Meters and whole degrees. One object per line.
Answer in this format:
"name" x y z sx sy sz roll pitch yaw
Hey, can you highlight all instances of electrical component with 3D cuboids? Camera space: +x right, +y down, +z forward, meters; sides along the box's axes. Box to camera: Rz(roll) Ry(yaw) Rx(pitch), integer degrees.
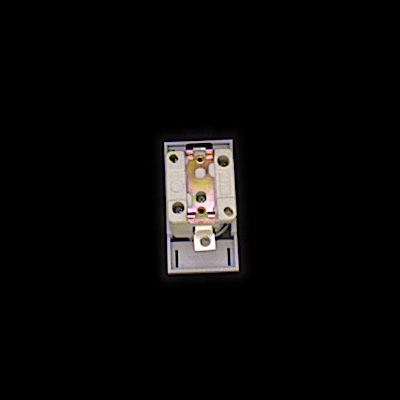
"electrical component" 0.000 0.000 0.625 0.042 0.081 0.063 -3 -17 -1
